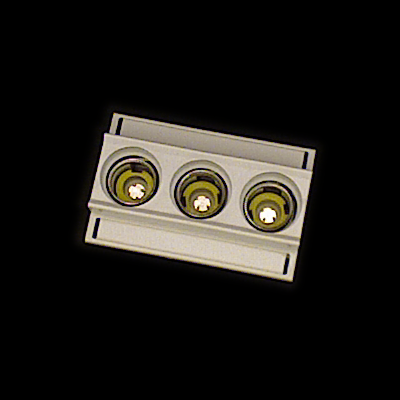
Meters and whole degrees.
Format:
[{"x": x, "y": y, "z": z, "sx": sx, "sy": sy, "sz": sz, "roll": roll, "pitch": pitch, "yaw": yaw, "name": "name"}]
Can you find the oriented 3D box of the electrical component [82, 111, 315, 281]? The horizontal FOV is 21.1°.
[{"x": 0.000, "y": 0.000, "z": 0.637, "sx": 0.121, "sy": 0.079, "sz": 0.063, "roll": 11, "pitch": -14, "yaw": 4, "name": "electrical component"}]
